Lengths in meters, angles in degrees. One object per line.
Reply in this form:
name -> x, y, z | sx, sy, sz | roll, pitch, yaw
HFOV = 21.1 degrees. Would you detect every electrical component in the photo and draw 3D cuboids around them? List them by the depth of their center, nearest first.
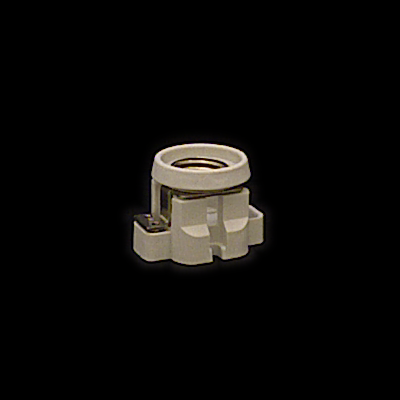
electrical component -> 0.000, 0.000, 0.637 | 0.079, 0.057, 0.057 | -9, 23, -24
